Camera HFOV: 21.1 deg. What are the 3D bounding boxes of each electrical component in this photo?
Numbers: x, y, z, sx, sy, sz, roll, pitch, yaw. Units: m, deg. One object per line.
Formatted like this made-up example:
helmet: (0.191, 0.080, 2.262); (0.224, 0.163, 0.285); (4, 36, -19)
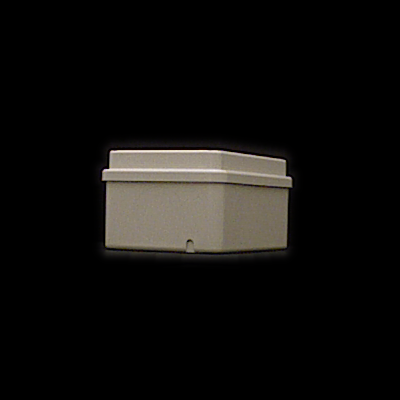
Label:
electrical component: (0.000, 0.000, 0.650); (0.078, 0.057, 0.113); (1, 0, 26)
